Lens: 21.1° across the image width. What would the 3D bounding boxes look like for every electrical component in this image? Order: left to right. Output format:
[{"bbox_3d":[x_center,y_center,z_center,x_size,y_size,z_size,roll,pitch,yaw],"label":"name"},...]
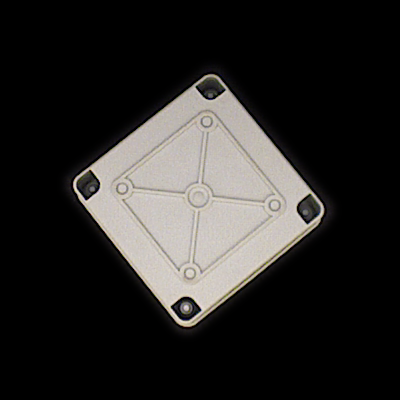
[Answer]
[{"bbox_3d":[0.000,0.000,0.628,0.109,0.109,0.056,-39,-5,-4],"label":"electrical component"}]
